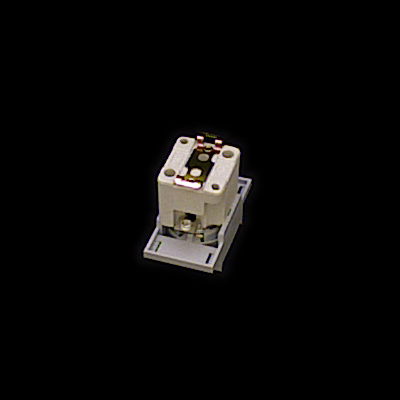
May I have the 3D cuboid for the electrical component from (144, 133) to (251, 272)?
[{"bbox_3d":[0.000,0.000,0.629,0.042,0.064,0.080,12,43,12],"label":"electrical component"}]
